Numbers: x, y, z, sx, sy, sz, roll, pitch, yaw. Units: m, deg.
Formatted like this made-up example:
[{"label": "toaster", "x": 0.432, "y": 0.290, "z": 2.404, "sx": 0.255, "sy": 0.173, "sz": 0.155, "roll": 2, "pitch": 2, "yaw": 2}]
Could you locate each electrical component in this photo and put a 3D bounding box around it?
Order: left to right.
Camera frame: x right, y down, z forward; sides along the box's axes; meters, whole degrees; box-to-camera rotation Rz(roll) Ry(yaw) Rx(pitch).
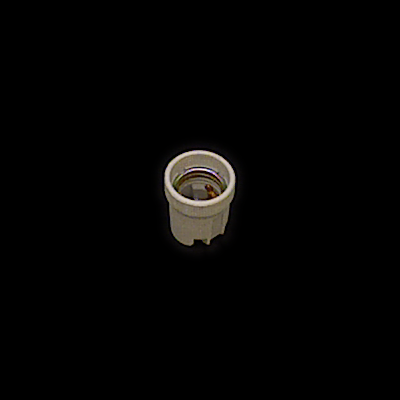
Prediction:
[{"label": "electrical component", "x": 0.000, "y": 0.000, "z": 0.629, "sx": 0.040, "sy": 0.040, "sz": 0.046, "roll": 0, "pitch": -38, "yaw": -1}]
